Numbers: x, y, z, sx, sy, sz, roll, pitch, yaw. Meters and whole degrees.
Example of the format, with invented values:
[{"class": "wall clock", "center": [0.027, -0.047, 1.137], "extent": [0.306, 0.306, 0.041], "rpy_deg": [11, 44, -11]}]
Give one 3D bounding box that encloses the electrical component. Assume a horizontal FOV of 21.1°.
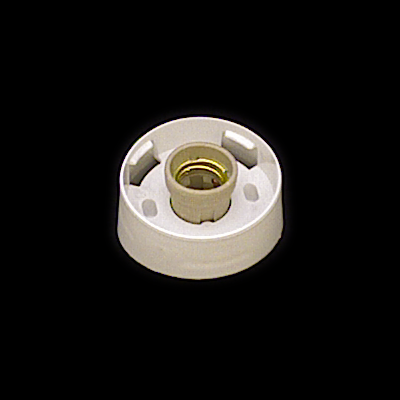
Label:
[{"class": "electrical component", "center": [0.000, 0.000, 0.627], "extent": [0.099, 0.098, 0.064], "rpy_deg": [0, -38, 0]}]
